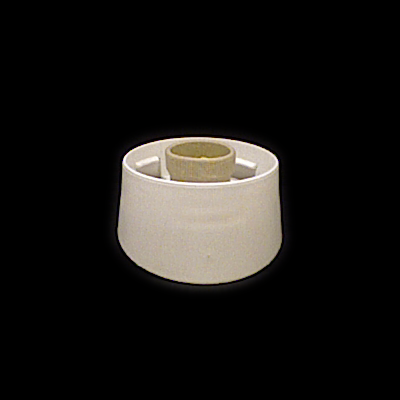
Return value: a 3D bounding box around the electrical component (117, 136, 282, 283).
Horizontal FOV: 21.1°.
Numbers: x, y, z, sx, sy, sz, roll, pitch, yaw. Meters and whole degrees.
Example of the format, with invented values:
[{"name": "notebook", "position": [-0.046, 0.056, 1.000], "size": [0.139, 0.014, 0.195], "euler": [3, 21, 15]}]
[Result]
[{"name": "electrical component", "position": [0.000, 0.000, 0.638], "size": [0.099, 0.065, 0.097], "euler": [1, 21, 0]}]
